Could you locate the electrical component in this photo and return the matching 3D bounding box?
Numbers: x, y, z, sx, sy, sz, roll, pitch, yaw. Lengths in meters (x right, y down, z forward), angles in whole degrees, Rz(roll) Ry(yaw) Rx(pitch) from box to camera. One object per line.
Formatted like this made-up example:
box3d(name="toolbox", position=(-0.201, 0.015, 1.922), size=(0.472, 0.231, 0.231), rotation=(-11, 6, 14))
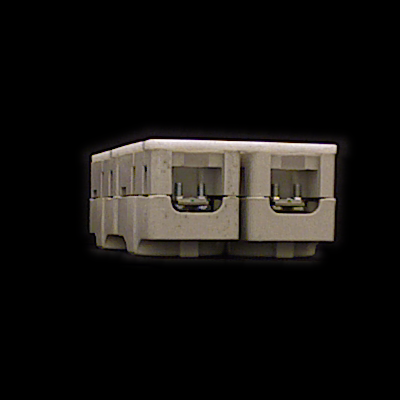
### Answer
box3d(name="electrical component", position=(0.000, 0.000, 0.649), size=(0.106, 0.060, 0.186), rotation=(1, -1, -15))
